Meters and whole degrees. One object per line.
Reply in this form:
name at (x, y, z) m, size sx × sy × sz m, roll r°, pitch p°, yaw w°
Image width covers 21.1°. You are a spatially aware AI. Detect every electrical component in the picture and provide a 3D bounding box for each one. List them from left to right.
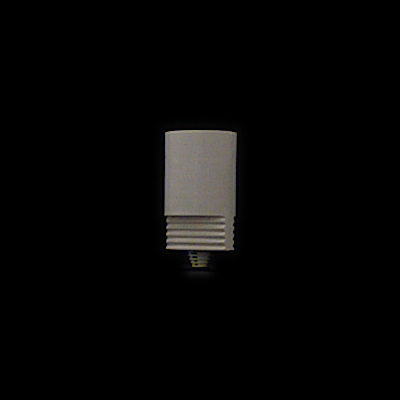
electrical component at (0.000, 0.000, 0.648) m, size 0.043 × 0.081 × 0.043 m, roll 1°, pitch 0°, yaw 0°
